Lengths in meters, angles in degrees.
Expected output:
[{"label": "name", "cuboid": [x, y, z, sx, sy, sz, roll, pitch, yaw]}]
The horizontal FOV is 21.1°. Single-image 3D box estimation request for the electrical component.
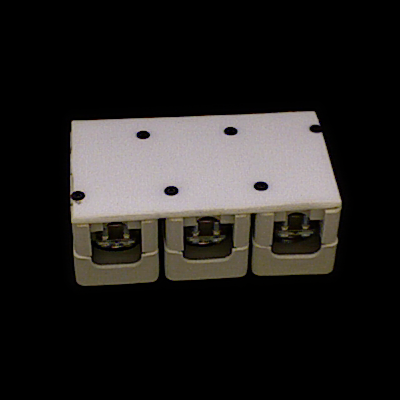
[{"label": "electrical component", "cuboid": [0.000, 0.000, 0.638, 0.150, 0.063, 0.087, -2, 42, -4]}]
